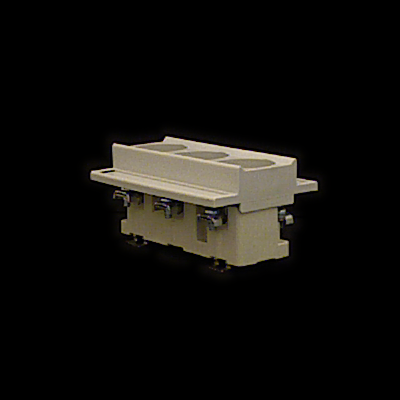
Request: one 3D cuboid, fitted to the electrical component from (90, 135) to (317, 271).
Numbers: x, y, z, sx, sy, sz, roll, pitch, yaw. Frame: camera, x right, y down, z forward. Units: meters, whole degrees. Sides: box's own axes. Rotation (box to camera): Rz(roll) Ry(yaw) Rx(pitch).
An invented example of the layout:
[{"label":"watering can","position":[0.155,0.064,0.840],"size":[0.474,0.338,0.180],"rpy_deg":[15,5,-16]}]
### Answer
[{"label":"electrical component","position":[0.000,0.000,0.655],"size":[0.079,0.063,0.120],"rpy_deg":[-10,15,-38]}]
